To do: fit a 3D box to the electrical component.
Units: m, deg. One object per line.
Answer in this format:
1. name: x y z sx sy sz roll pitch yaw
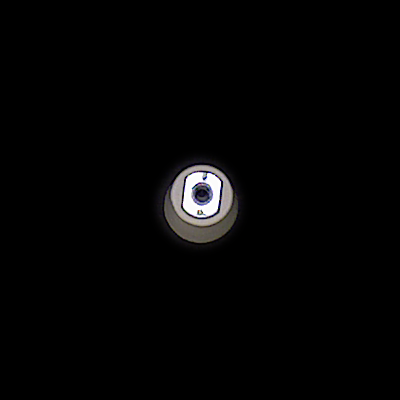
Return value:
1. electrical component: 0.000 0.000 0.625 0.044 0.044 0.065 0 -6 -1
